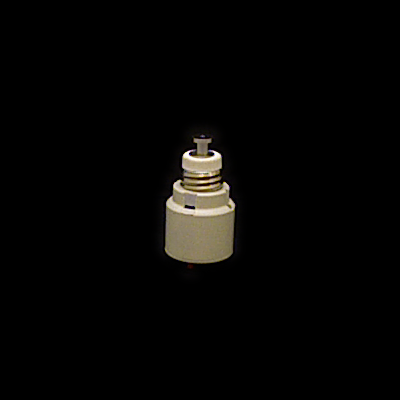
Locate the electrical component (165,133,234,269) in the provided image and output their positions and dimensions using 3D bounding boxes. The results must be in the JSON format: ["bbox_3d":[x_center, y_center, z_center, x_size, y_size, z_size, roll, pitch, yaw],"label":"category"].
[{"bbox_3d":[0.000,0.000,0.636,0.040,0.079,0.039,2,21,0],"label":"electrical component"}]
